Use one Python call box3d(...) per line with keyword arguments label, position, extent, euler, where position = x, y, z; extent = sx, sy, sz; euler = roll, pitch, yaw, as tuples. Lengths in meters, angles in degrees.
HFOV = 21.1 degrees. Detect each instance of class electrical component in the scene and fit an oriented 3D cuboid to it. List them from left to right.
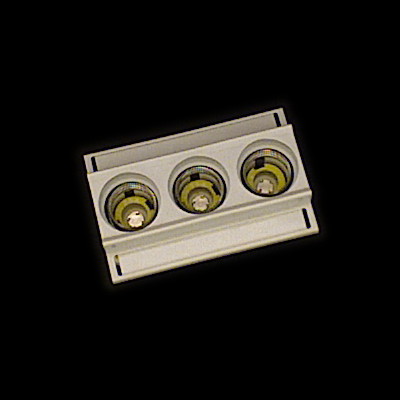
box3d(label="electrical component", position=(0.000, 0.000, 0.637), extent=(0.121, 0.079, 0.063), euler=(-14, -18, -3))
